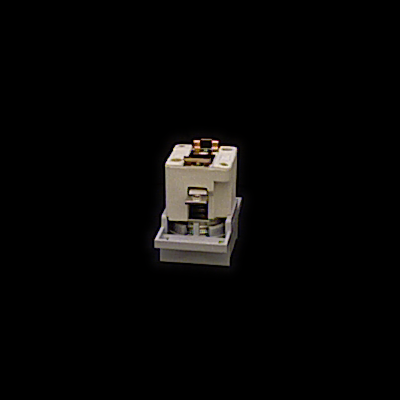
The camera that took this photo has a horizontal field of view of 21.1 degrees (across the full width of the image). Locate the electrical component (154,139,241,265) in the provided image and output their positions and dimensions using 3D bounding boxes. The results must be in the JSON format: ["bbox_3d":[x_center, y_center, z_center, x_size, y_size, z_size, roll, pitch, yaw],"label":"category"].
[{"bbox_3d":[0.000,0.000,0.639,0.042,0.064,0.080,3,21,6],"label":"electrical component"}]
